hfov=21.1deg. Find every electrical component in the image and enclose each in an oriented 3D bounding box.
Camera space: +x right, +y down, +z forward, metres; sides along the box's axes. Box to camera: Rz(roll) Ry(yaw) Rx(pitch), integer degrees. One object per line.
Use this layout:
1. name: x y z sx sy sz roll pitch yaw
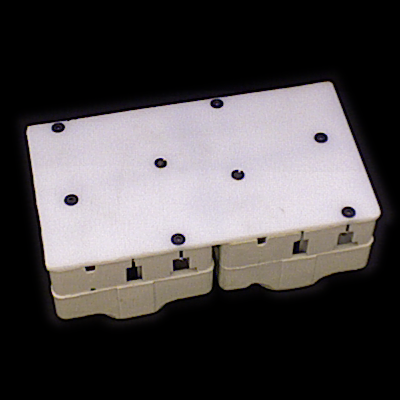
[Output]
1. electrical component: 0.000 0.000 0.627 0.186 0.105 0.060 -9 -37 -8
